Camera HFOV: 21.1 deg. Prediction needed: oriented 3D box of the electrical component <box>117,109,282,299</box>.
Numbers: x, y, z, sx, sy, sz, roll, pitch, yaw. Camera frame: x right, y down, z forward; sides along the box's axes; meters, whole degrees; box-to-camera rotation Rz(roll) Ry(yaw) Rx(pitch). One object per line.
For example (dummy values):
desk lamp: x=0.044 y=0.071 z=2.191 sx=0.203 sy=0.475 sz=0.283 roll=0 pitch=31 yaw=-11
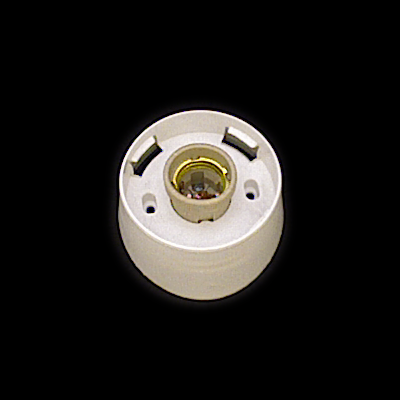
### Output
electrical component: x=0.000 y=0.000 z=0.625 sx=0.099 sy=0.099 sz=0.064 roll=0 pitch=-27 yaw=0
